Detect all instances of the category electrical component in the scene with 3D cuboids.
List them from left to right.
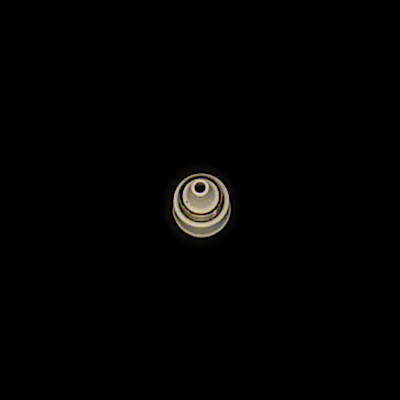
[{"bbox_3d":[0.000,0.000,0.637,0.035,0.035,0.061,0,-15,2],"label":"electrical component"}]
